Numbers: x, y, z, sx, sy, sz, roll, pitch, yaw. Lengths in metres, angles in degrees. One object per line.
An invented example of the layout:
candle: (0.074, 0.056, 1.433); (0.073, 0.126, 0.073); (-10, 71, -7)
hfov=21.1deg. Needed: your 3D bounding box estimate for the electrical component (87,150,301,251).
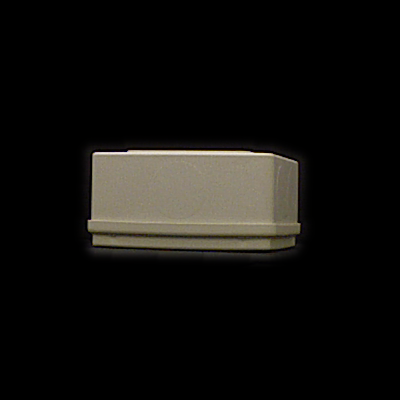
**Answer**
electrical component: (0.000, 0.000, 0.647); (0.108, 0.056, 0.109); (1, 0, 13)
